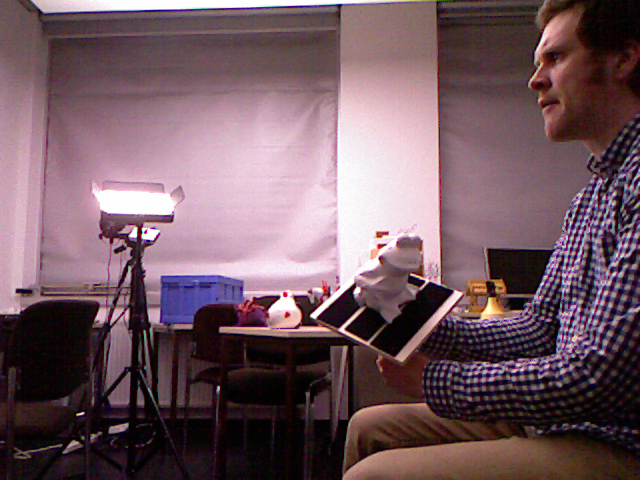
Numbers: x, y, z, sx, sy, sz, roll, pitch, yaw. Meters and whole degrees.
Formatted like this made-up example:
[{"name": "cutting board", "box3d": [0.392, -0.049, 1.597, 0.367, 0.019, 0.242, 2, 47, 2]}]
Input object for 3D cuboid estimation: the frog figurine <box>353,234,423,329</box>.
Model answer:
[{"name": "frog figurine", "box3d": [0.118, 0.053, 0.908, 0.139, 0.156, 0.124, -26, 40, -24]}]
